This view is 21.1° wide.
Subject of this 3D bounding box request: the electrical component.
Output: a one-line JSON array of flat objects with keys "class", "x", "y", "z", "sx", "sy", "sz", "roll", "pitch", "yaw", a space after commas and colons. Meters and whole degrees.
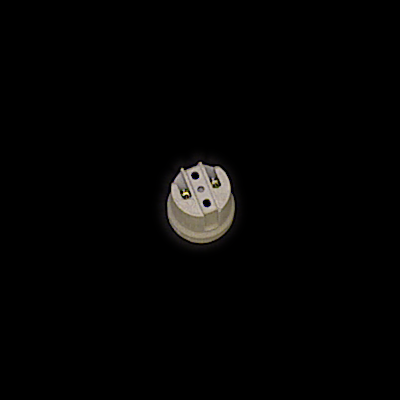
[{"class": "electrical component", "x": 0.000, "y": 0.000, "z": 0.634, "sx": 0.040, "sy": 0.040, "sz": 0.046, "roll": 0, "pitch": -16, "yaw": 0}]
